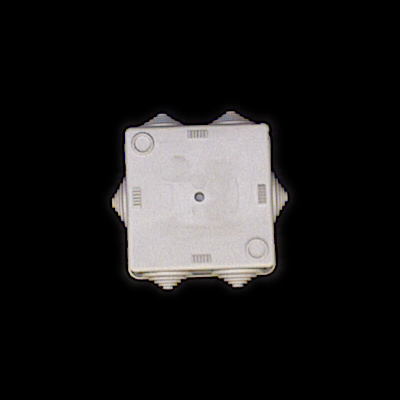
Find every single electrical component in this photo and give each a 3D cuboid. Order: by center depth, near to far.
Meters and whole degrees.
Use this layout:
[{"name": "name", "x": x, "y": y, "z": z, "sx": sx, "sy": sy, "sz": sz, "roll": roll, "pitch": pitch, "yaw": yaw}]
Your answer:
[{"name": "electrical component", "x": 0.000, "y": 0.000, "z": 0.632, "sx": 0.100, "sy": 0.100, "sz": 0.048, "roll": -2, "pitch": -7, "yaw": 0}]
